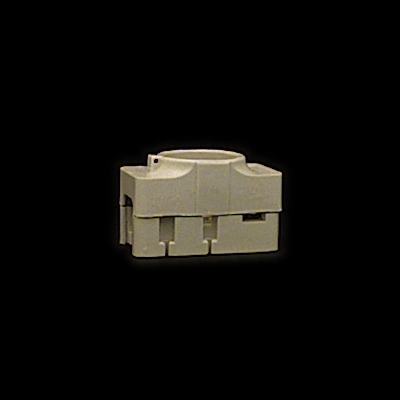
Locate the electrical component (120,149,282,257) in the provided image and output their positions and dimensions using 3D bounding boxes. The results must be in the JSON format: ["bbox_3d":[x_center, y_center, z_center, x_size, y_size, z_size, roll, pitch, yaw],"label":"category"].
[{"bbox_3d":[0.000,0.000,0.652,0.090,0.056,0.049,-2,12,-18],"label":"electrical component"}]
